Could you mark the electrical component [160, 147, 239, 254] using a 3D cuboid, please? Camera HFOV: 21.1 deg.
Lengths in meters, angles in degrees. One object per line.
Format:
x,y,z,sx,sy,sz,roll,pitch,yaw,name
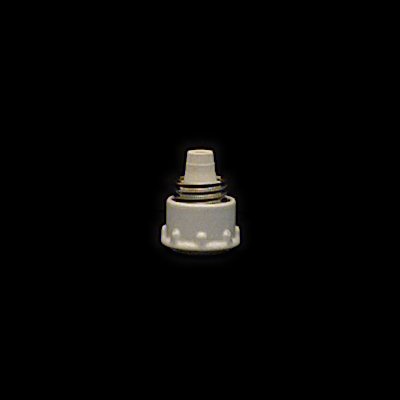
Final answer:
0.000,0.000,0.649,0.048,0.062,0.048,0,12,1,electrical component
